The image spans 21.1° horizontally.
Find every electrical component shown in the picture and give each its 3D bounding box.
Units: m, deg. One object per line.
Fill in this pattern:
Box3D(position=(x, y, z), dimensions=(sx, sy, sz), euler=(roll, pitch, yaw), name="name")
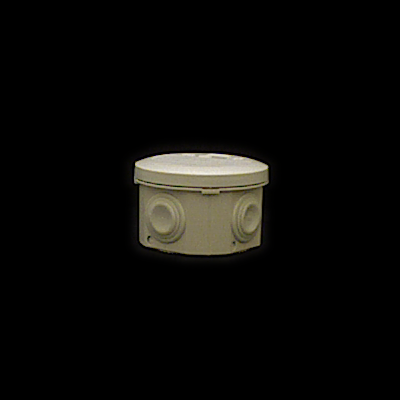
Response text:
Box3D(position=(0.000, 0.000, 0.644), dimensions=(0.080, 0.051, 0.079), euler=(1, 11, 0), name="electrical component")
